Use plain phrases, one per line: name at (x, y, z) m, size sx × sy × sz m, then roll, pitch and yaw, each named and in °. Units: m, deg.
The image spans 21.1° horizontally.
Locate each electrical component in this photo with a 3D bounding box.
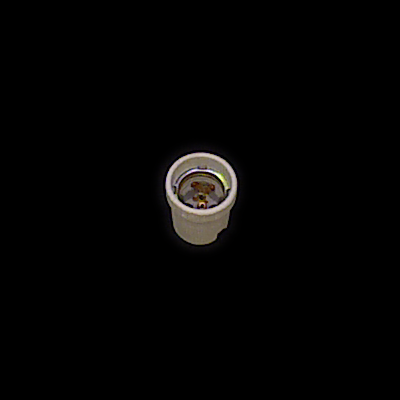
electrical component at (0.000, 0.000, 0.627) m, size 0.040 × 0.040 × 0.046 m, roll 0°, pitch -27°, yaw 0°
